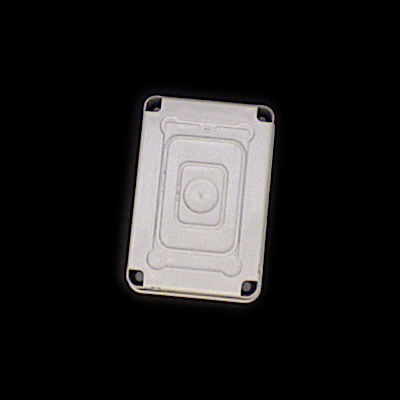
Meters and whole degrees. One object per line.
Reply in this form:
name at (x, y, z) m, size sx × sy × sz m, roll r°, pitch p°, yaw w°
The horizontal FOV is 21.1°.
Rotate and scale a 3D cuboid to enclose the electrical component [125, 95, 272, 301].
electrical component at (0.000, 0.000, 0.628) m, size 0.078 × 0.113 × 0.057 m, roll 5°, pitch -7°, yaw 1°
